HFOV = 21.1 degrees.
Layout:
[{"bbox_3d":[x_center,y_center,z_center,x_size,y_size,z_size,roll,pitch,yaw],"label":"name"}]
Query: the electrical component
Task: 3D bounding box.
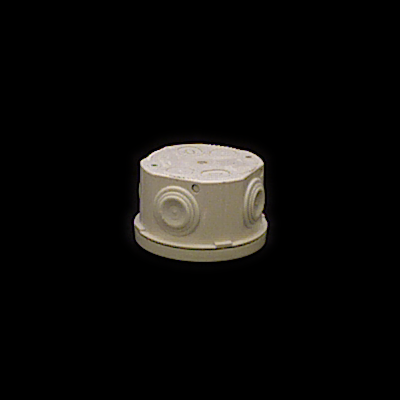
[{"bbox_3d":[0.000,0.000,0.642,0.080,0.051,0.079,1,21,0],"label":"electrical component"}]
